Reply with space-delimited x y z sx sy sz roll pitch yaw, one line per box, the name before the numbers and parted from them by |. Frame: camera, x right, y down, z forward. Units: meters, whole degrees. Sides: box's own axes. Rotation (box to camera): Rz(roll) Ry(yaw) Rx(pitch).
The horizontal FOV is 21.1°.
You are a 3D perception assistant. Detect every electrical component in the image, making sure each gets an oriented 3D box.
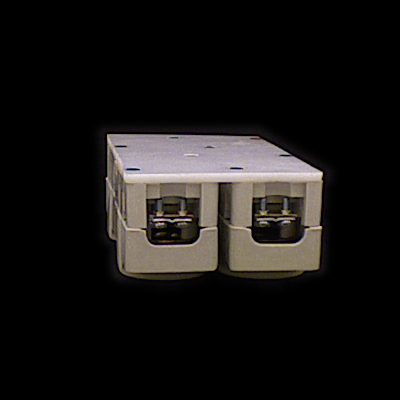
electrical component | 0.000 0.000 0.644 0.105 0.061 0.184 0 10 -8
